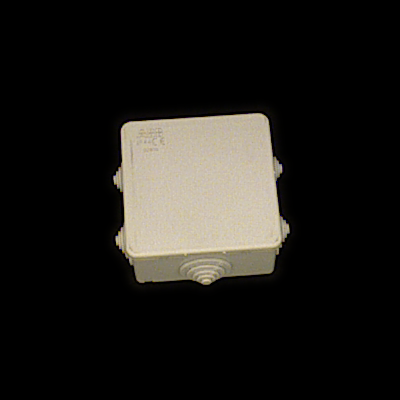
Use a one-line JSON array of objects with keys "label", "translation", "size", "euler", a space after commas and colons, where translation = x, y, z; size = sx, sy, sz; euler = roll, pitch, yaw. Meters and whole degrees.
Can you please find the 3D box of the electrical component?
[{"label": "electrical component", "translation": [0.000, 0.000, 0.640], "size": [0.100, 0.100, 0.048], "euler": [-4, -26, -2]}]
